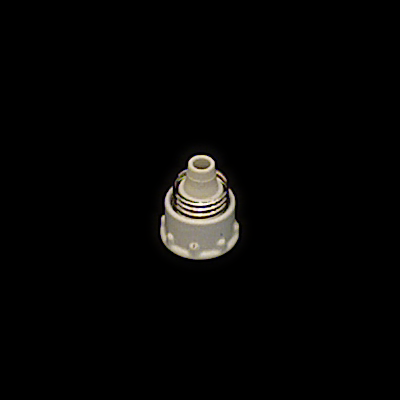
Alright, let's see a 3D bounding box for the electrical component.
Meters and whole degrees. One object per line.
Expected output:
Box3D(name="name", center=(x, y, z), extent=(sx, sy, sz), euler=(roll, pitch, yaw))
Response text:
Box3D(name="electrical component", center=(0.000, 0.000, 0.637), extent=(0.048, 0.062, 0.047), euler=(1, 43, 0))
